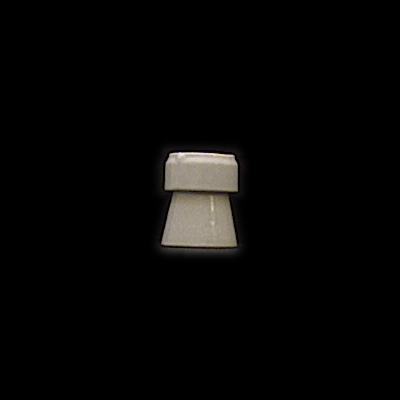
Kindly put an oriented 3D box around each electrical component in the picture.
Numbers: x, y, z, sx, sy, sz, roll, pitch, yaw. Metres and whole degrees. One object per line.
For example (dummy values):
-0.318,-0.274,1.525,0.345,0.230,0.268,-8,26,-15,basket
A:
0.000,0.000,0.649,0.045,0.055,0.044,1,2,0,electrical component
